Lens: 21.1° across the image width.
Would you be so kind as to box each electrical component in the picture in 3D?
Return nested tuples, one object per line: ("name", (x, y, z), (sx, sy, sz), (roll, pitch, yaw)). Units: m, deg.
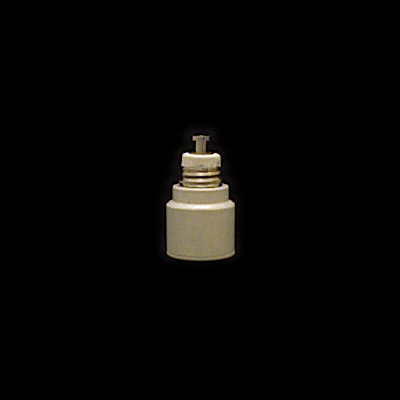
("electrical component", (0.000, 0.000, 0.642), (0.040, 0.079, 0.040), (0, 12, 0))
